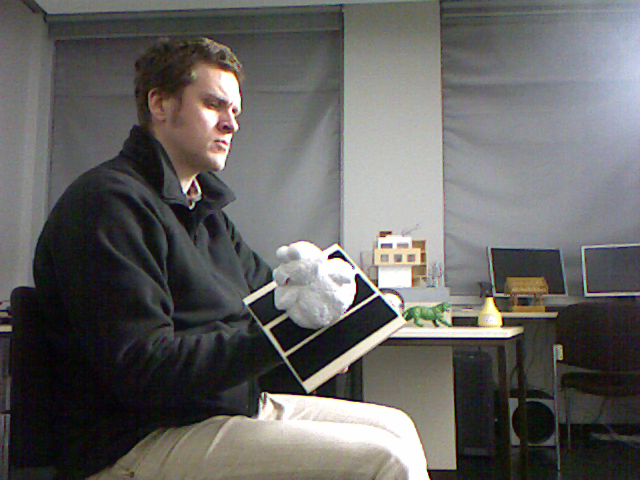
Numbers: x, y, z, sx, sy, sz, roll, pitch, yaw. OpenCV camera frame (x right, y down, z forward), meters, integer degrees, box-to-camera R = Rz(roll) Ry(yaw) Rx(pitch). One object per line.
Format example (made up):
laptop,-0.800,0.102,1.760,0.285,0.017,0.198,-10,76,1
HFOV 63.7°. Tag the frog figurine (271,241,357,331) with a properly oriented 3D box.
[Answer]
frog figurine,-0.010,0.068,0.818,0.138,0.126,0.156,-13,-33,-1
